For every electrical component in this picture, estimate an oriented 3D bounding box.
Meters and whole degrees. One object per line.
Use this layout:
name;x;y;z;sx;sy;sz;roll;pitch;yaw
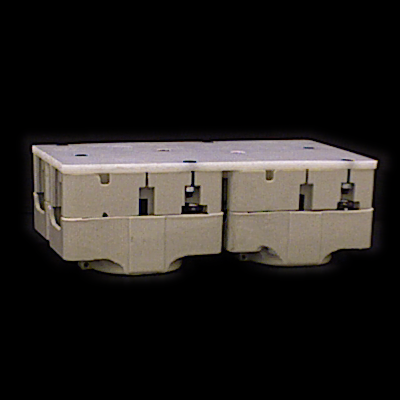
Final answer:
electrical component;0.000;0.000;0.644;0.186;0.061;0.104;-2;11;-18
